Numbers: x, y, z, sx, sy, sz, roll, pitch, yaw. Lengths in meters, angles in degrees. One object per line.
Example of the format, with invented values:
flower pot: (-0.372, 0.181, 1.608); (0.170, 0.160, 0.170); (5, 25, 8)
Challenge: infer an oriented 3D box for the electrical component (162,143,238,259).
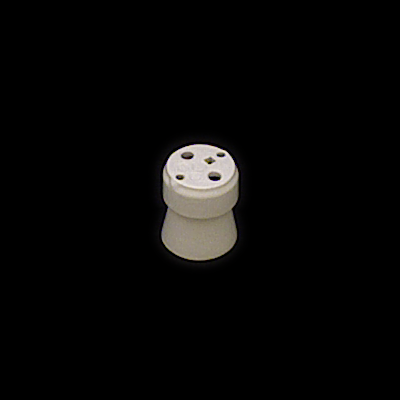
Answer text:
electrical component: (0.000, 0.000, 0.631); (0.045, 0.055, 0.044); (0, 43, 0)
